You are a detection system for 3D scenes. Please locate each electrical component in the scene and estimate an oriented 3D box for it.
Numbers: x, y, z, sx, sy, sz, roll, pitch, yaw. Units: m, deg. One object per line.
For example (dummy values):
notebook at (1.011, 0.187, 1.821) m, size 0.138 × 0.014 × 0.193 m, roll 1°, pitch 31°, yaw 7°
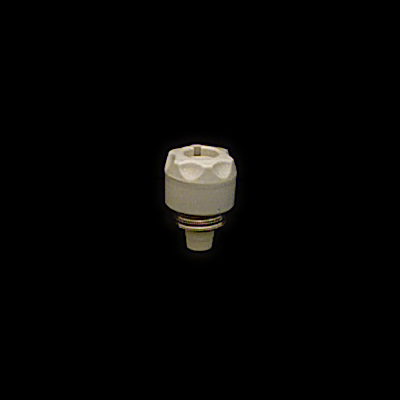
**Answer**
electrical component at (0.000, 0.000, 0.645) m, size 0.043 × 0.063 × 0.043 m, roll 1°, pitch 23°, yaw 0°
